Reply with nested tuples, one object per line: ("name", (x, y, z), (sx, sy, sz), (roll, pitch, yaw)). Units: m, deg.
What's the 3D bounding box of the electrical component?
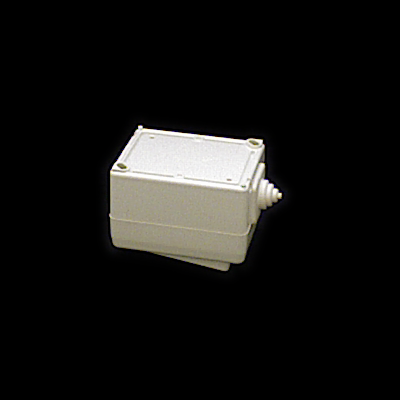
("electrical component", (0.000, 0.000, 0.635), (0.096, 0.061, 0.061), (7, 31, 10))
